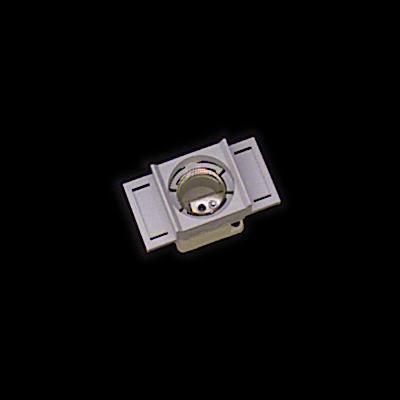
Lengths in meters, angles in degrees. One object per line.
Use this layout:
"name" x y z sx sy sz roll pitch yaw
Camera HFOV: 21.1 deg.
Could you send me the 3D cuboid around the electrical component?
"electrical component" 0.000 0.000 0.624 0.081 0.042 0.063 -20 -17 -5
